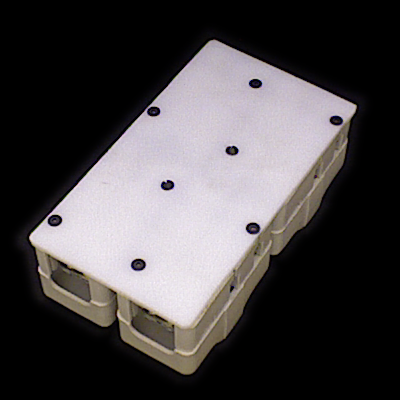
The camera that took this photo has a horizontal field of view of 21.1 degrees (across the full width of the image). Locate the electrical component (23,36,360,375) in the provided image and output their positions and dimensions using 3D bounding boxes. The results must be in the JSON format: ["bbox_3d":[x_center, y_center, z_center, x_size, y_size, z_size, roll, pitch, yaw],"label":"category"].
[{"bbox_3d":[0.000,0.000,0.627,0.105,0.186,0.060,27,-33,19],"label":"electrical component"}]
